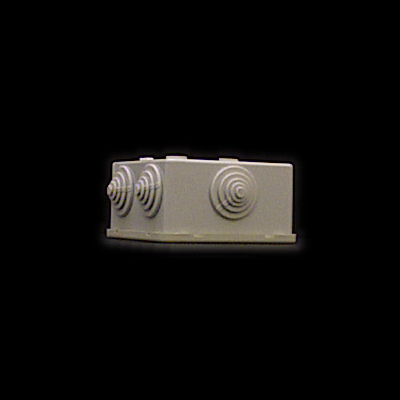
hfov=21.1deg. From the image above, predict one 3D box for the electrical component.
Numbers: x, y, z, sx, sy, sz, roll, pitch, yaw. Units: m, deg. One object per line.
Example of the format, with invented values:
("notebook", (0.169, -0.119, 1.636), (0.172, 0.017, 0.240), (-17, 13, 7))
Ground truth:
("electrical component", (0.000, 0.000, 0.650), (0.100, 0.048, 0.099), (1, 0, -27))
